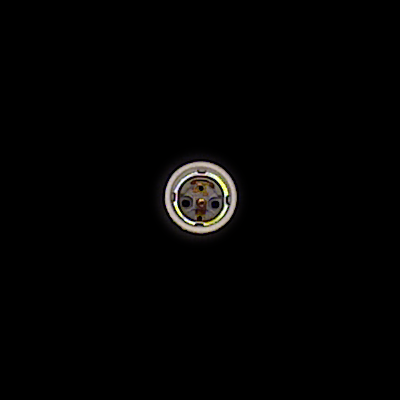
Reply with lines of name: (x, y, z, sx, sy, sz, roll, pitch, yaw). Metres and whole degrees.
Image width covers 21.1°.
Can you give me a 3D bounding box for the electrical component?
electrical component: (0.000, 0.000, 0.627, 0.040, 0.040, 0.046, 0, -6, 0)
